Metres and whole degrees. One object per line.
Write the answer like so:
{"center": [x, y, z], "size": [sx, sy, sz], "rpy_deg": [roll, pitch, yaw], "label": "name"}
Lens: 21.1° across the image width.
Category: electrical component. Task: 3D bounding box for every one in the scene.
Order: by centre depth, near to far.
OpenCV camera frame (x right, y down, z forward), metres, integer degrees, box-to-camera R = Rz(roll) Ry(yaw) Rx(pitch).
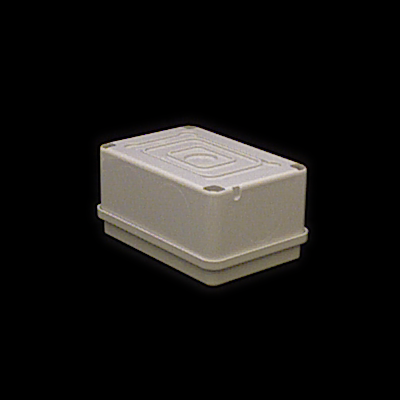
{"center": [0.000, 0.000, 0.639], "size": [0.078, 0.058, 0.112], "rpy_deg": [-16, 26, -37], "label": "electrical component"}
